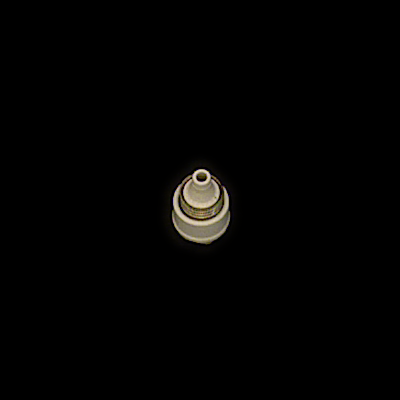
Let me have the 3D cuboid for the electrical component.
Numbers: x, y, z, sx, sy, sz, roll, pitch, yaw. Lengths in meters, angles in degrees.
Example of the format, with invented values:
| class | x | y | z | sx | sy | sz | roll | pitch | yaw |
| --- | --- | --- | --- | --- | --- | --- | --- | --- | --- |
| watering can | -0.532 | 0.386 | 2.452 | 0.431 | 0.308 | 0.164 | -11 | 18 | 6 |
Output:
| class | x | y | z | sx | sy | sz | roll | pitch | yaw |
| --- | --- | --- | --- | --- | --- | --- | --- | --- | --- |
| electrical component | 0.000 | 0.000 | 0.638 | 0.035 | 0.035 | 0.061 | 0 | -27 | -1 |
